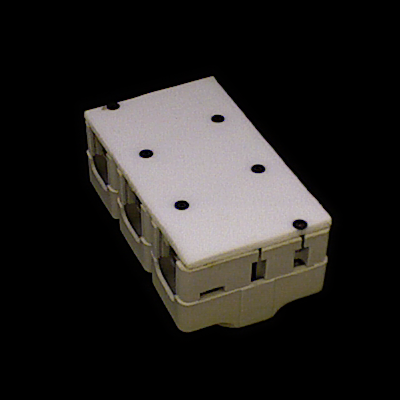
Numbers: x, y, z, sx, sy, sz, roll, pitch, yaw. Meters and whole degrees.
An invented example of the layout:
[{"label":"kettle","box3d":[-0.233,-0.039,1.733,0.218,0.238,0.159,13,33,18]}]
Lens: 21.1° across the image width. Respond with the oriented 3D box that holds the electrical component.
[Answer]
[{"label":"electrical component","box3d":[0.000,0.000,0.635,0.089,0.063,0.147,-17,45,-18]}]
